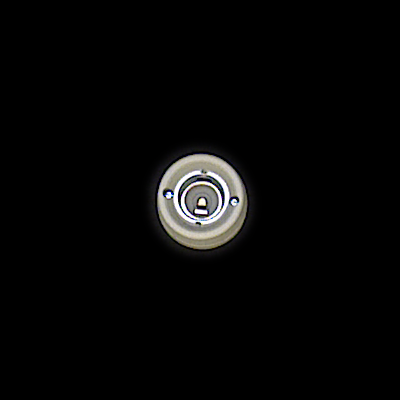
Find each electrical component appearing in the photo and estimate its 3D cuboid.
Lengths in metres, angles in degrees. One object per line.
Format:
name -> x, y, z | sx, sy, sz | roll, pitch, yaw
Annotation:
electrical component -> 0.000, 0.000, 0.634 | 0.055, 0.055, 0.047 | 0, -7, 1
